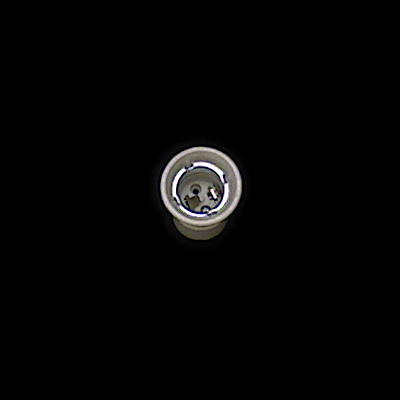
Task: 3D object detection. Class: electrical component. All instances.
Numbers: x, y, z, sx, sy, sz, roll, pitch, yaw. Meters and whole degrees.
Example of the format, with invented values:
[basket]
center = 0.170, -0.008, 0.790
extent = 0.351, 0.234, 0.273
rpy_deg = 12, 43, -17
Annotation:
[electrical component]
center = 0.000, 0.000, 0.623
extent = 0.044, 0.044, 0.065
rpy_deg = 0, -16, 0
